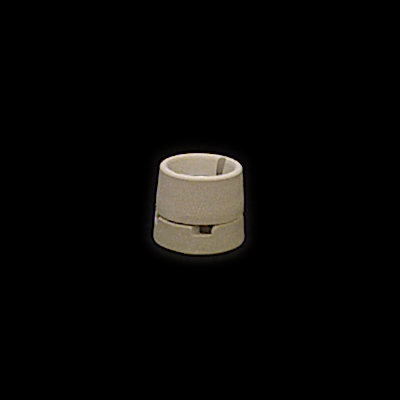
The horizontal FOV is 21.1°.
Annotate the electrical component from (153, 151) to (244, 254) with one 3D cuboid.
[{"bbox_3d":[0.000,0.000,0.643,0.055,0.047,0.055,2,21,-1],"label":"electrical component"}]
